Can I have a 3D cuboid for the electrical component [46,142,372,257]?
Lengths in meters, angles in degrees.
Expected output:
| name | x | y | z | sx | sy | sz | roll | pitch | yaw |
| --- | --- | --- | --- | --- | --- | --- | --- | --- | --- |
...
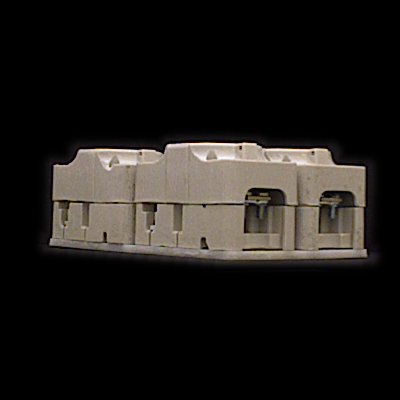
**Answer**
| name | x | y | z | sx | sy | sz | roll | pitch | yaw |
| --- | --- | --- | --- | --- | --- | --- | --- | --- | --- |
| electrical component | 0.000 | 0.000 | 0.650 | 0.106 | 0.060 | 0.186 | 1 | 0 | -38 |
